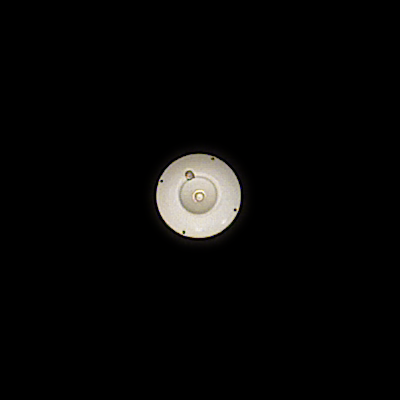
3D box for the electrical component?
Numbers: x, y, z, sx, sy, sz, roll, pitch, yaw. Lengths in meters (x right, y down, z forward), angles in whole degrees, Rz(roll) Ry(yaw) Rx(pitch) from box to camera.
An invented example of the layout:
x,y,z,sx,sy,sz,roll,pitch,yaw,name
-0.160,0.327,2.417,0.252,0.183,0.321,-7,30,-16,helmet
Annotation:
x,y,z,sx,sy,sz,roll,pitch,yaw,name
0.000,0.000,0.634,0.048,0.048,0.061,0,-6,1,electrical component
